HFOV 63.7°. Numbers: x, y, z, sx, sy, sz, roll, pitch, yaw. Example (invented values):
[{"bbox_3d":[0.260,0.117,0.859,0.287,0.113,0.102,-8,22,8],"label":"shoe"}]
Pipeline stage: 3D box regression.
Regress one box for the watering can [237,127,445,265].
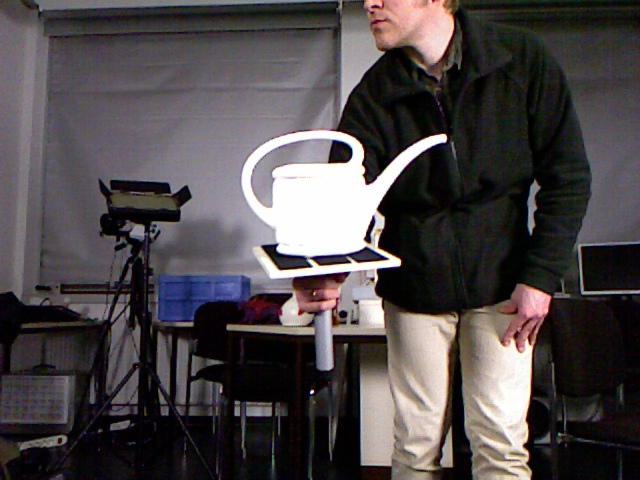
[{"bbox_3d":[0.042,-0.072,0.838,0.348,0.222,0.105,-5,14,-12],"label":"watering can"}]
